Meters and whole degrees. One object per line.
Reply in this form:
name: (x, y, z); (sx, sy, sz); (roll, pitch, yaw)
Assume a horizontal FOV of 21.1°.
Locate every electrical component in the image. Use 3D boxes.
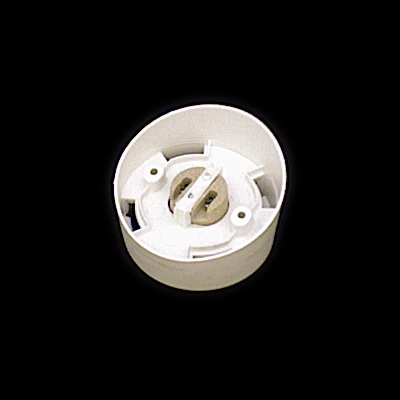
electrical component: (0.000, 0.000, 0.626); (0.099, 0.098, 0.064); (0, -38, -1)
